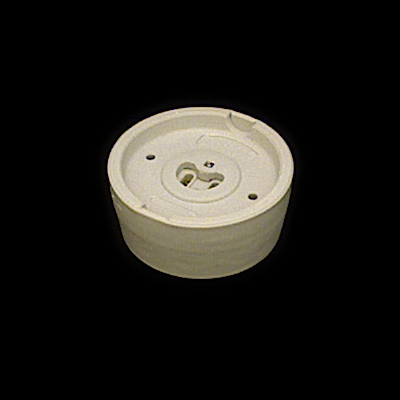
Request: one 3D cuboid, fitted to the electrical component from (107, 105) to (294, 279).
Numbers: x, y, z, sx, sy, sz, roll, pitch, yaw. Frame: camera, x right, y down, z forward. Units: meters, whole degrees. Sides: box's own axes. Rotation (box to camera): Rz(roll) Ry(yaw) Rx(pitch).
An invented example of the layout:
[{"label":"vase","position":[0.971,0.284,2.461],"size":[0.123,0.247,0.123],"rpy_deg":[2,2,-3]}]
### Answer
[{"label":"electrical component","position":[0.000,0.000,0.641],"size":[0.108,0.061,0.106],"rpy_deg":[1,43,0]}]
